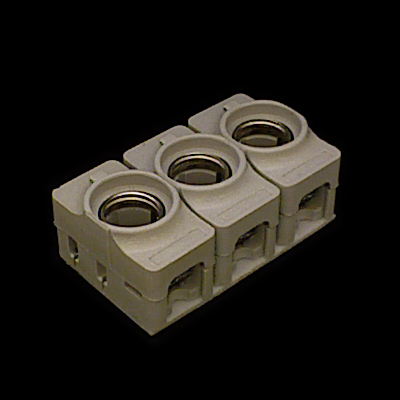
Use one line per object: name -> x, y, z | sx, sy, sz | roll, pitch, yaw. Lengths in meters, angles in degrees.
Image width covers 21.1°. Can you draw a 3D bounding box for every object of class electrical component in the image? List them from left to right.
electrical component -> 0.000, 0.000, 0.637 | 0.149, 0.063, 0.088 | -31, 50, -31
